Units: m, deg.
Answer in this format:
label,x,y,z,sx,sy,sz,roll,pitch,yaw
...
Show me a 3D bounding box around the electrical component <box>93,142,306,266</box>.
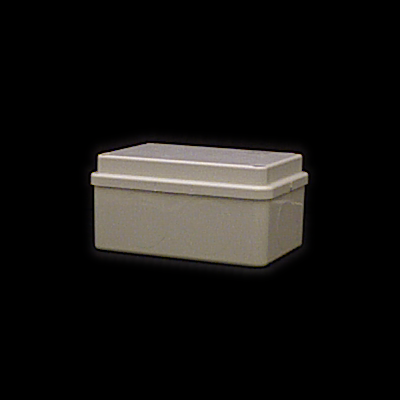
label,x,y,z,sx,sy,sz,roll,pitch,yaw
electrical component,0.000,0.000,0.646,0.113,0.057,0.078,5,11,22
